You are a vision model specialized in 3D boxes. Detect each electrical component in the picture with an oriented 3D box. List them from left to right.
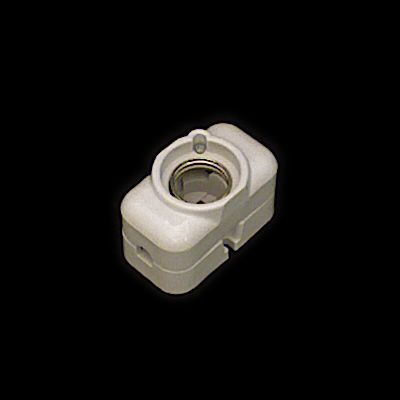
[{"bbox_3d":[0.000,0.000,0.636,0.053,0.059,0.095,36,60,23],"label":"electrical component"}]
